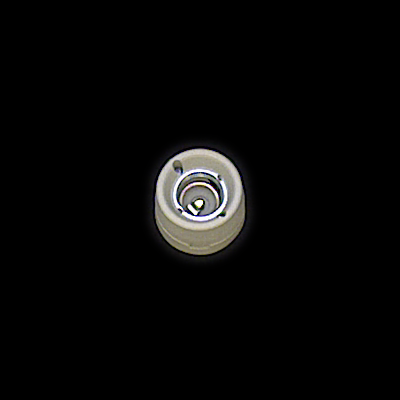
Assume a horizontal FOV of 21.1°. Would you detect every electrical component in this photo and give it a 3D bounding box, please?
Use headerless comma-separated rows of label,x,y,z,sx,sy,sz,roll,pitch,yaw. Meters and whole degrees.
electrical component,0.000,0.000,0.633,0.055,0.056,0.047,0,-18,0
